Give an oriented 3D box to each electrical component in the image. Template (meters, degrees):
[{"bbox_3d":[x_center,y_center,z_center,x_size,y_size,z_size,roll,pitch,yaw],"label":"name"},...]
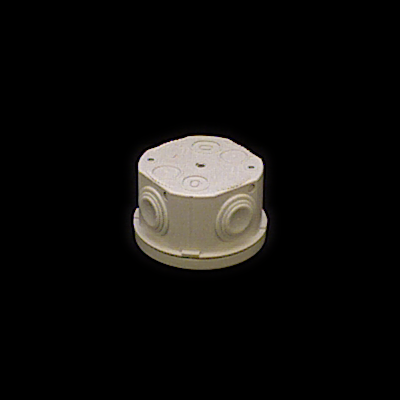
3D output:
[{"bbox_3d":[0.000,0.000,0.637,0.080,0.051,0.079,0,31,0],"label":"electrical component"}]
